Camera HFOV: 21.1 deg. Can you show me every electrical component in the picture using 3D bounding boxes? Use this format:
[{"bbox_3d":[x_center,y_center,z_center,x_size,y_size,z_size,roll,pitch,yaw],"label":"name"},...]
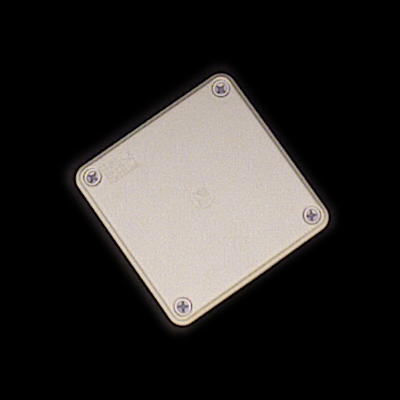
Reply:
[{"bbox_3d":[0.000,0.000,0.631,0.109,0.109,0.056,-35,-5,-4],"label":"electrical component"}]
